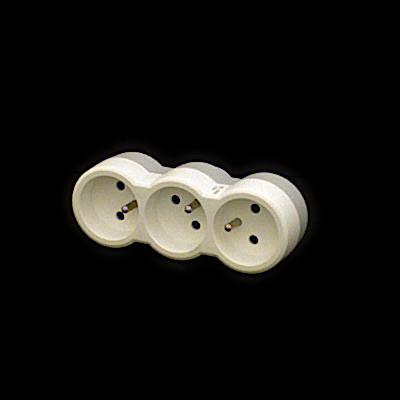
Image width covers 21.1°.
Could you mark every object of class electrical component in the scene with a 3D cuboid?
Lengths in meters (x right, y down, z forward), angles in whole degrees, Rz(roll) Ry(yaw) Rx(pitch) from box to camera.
[{"bbox_3d":[0.000,0.000,0.650,0.137,0.053,0.073,10,22,20],"label":"electrical component"}]
